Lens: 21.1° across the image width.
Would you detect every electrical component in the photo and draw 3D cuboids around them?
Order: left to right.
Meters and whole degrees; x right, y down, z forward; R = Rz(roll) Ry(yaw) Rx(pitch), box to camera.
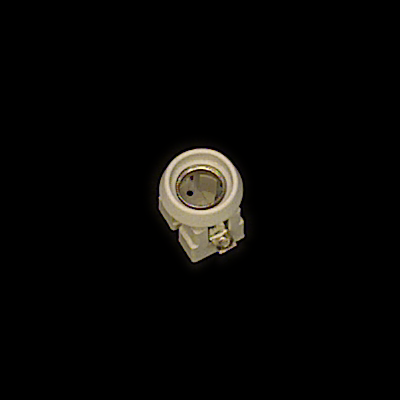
[{"bbox_3d":[0.000,0.000,0.637,0.048,0.066,0.055,-30,-23,-11],"label":"electrical component"}]
